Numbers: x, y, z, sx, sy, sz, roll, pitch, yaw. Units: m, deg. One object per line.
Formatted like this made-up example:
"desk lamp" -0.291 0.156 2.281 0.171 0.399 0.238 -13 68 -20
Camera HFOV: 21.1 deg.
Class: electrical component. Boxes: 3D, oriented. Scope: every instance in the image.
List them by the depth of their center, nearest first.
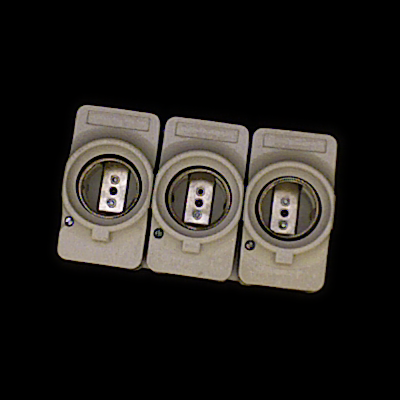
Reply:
"electrical component" 0.000 0.000 0.632 0.150 0.089 0.061 7 -5 1
